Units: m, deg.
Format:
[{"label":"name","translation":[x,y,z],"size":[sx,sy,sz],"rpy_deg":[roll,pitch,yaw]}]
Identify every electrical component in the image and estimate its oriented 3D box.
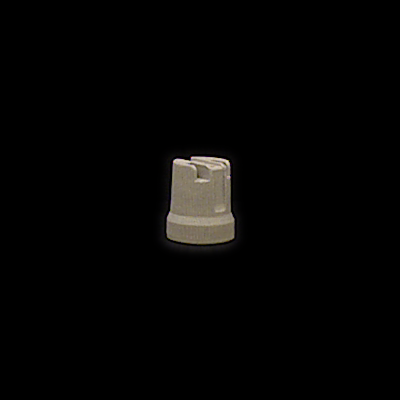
[{"label":"electrical component","translation":[0.000,0.000,0.644],"size":[0.040,0.046,0.040],"rpy_deg":[1,11,0]}]
